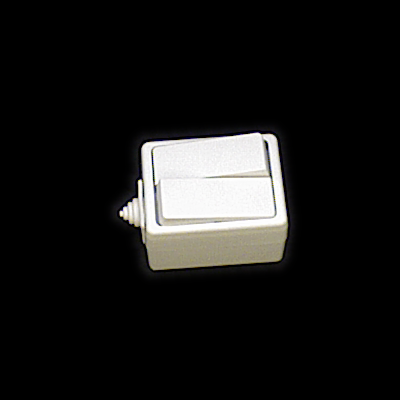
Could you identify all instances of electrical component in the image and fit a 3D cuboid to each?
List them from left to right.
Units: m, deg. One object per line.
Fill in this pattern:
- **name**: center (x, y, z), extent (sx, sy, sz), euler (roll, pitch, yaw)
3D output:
- **electrical component**: center (0.000, 0.000, 0.626), extent (0.096, 0.062, 0.061), euler (-4, -28, -2)
